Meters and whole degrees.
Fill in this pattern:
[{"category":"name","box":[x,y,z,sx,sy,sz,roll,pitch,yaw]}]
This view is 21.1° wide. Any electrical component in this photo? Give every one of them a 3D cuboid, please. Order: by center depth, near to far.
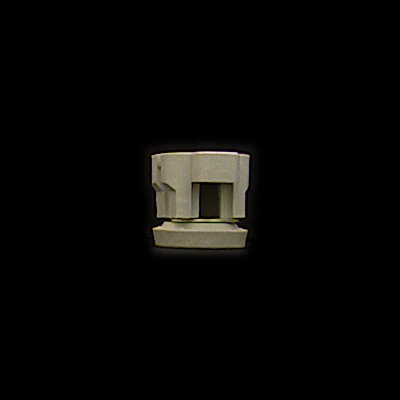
[{"category":"electrical component","box":[0.000,0.000,0.657,0.058,0.057,0.078,0,0,-20]}]
